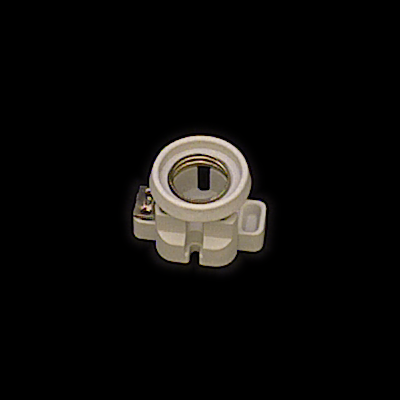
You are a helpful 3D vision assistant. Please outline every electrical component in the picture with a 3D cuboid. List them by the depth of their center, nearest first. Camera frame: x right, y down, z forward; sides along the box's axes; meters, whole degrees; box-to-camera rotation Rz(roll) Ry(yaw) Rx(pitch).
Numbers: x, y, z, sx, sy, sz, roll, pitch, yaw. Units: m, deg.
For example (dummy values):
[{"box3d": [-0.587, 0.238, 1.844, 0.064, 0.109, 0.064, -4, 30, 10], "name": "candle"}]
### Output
[{"box3d": [0.000, 0.000, 0.629, 0.078, 0.057, 0.057, 6, -37, 4], "name": "electrical component"}]
